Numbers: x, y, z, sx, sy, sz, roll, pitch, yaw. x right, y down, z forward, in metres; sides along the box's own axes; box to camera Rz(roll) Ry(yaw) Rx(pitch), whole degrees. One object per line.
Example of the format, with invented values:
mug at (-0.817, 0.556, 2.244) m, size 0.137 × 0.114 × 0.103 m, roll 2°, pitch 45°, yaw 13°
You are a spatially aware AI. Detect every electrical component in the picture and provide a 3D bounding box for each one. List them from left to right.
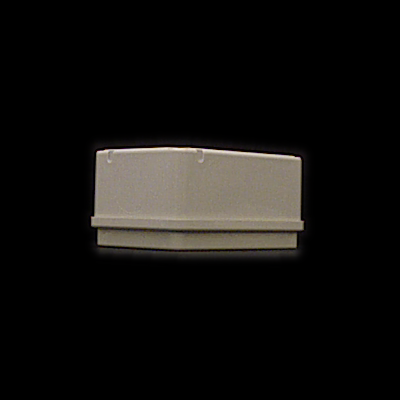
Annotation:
electrical component at (0.000, 0.000, 0.650) m, size 0.078 × 0.057 × 0.113 m, roll 1°, pitch -1°, yaw 45°
